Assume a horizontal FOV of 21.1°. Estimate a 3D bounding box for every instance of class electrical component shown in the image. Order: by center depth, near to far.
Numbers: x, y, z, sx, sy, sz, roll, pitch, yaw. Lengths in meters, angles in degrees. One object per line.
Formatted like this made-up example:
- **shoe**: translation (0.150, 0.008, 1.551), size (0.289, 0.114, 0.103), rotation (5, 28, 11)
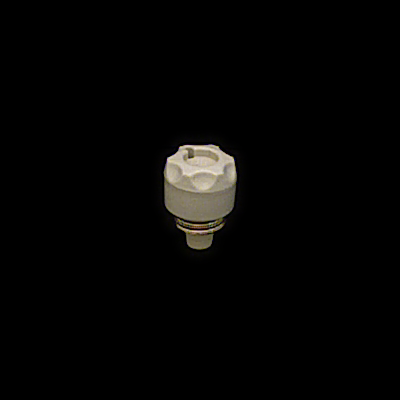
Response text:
- **electrical component**: translation (0.000, 0.000, 0.641), size (0.043, 0.063, 0.043), rotation (1, 33, 0)
